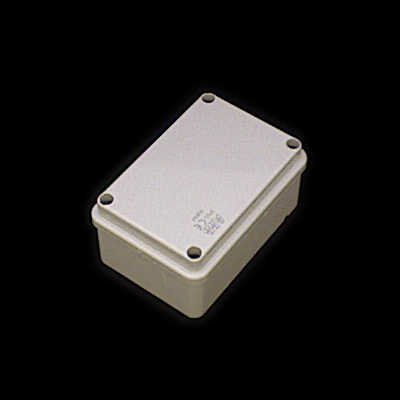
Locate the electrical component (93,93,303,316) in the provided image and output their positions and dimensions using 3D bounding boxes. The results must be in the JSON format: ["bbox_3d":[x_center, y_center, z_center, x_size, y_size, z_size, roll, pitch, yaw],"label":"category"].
[{"bbox_3d":[0.000,0.000,0.628,0.078,0.113,0.057,30,-32,21],"label":"electrical component"}]
